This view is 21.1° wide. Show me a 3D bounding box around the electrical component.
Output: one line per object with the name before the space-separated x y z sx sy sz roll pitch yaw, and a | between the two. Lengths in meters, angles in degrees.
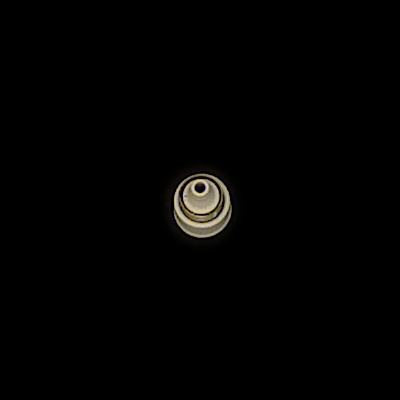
electrical component | 0.000 0.000 0.637 0.035 0.035 0.061 0 -15 2
